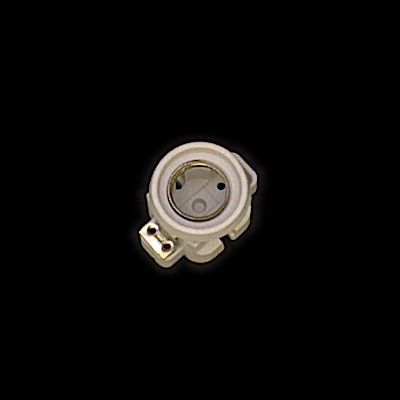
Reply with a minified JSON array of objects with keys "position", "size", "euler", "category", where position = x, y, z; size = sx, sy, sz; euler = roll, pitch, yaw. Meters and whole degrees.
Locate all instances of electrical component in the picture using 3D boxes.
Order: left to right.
[{"position":[0.000,0.000,0.628],"size":[0.079,0.058,0.056],"euler":[-41,-12,-11],"category":"electrical component"}]
